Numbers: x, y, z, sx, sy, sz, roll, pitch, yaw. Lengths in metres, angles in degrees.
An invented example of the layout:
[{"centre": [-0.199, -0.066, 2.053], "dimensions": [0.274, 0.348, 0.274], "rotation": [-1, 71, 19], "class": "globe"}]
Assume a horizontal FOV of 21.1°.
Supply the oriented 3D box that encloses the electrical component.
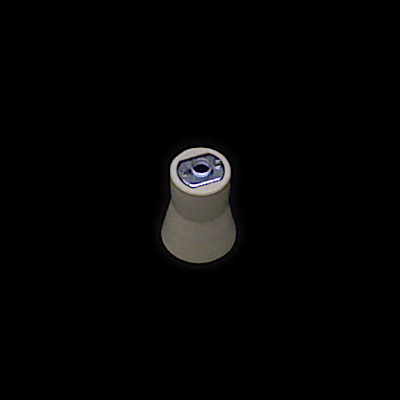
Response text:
[{"centre": [0.000, 0.000, 0.625], "dimensions": [0.044, 0.044, 0.065], "rotation": [0, -37, -1], "class": "electrical component"}]
